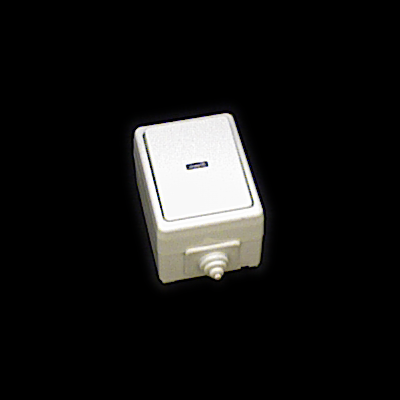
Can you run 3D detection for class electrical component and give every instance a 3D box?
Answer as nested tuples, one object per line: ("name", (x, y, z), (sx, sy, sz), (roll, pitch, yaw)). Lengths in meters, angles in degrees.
("electrical component", (0.000, 0.000, 0.626), (0.062, 0.096, 0.061), (-10, -37, -8))
